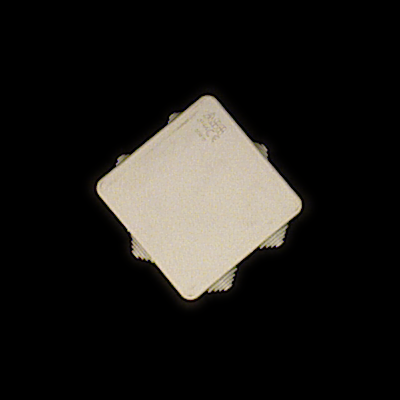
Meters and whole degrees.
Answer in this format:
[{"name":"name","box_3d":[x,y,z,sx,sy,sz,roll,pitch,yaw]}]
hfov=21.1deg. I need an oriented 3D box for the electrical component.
[{"name":"electrical component","box_3d":[0.000,0.000,0.642,0.100,0.100,0.048,-39,-5,-4]}]
